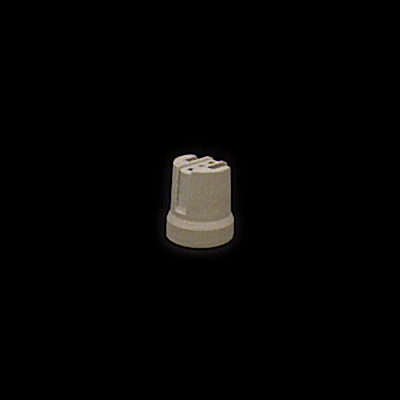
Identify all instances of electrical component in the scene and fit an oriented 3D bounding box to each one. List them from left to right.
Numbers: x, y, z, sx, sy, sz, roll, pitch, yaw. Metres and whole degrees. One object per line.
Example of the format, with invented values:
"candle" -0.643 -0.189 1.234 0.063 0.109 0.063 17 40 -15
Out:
"electrical component" 0.000 0.000 0.642 0.040 0.046 0.040 1 22 0
